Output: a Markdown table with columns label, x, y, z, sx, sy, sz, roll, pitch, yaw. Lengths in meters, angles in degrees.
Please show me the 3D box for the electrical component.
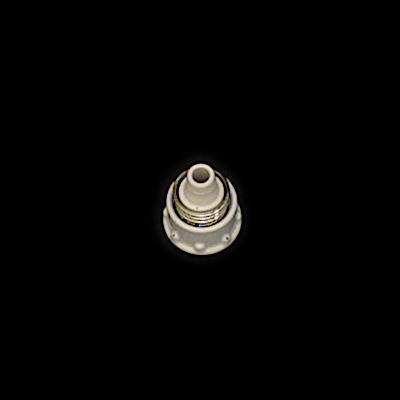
| label | x | y | z | sx | sy | sz | roll | pitch | yaw |
| --- | --- | --- | --- | --- | --- | --- | --- | --- | --- |
| electrical component | 0.000 | 0.000 | 0.634 | 0.048 | 0.048 | 0.062 | 0 | -28 | 0 |
